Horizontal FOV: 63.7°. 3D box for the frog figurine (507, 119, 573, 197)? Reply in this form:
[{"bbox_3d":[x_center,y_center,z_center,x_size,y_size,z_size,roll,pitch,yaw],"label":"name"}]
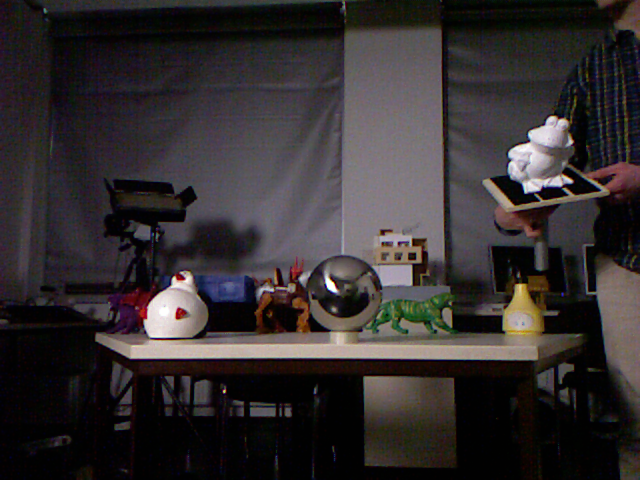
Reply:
[{"bbox_3d":[0.481,-0.191,1.127,0.137,0.156,0.125,-5,26,13],"label":"frog figurine"}]
